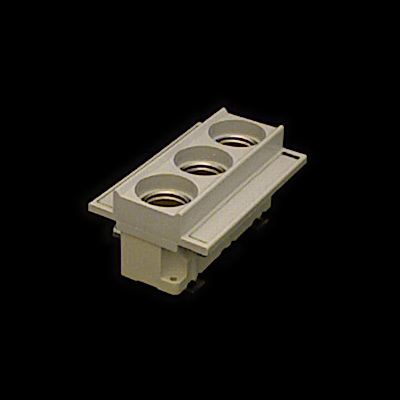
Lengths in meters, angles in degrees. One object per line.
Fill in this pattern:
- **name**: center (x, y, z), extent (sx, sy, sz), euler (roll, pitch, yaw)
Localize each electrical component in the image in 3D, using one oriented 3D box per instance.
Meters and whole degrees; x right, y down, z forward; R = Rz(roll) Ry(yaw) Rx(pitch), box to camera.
- **electrical component**: center (0.000, 0.000, 0.647), extent (0.078, 0.064, 0.120), euler (20, 36, 25)
